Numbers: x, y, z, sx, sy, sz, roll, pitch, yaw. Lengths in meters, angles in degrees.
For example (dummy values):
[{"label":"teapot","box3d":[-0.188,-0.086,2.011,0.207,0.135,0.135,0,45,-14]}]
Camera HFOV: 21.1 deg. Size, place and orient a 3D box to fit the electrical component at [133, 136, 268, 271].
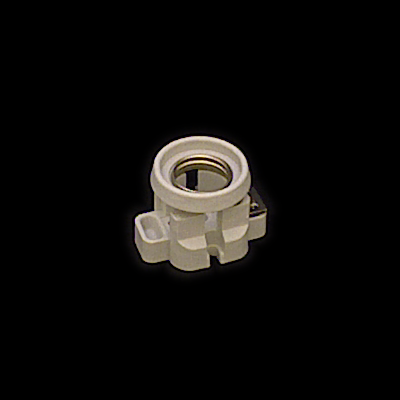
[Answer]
[{"label":"electrical component","box3d":[0.000,0.000,0.633,0.078,0.057,0.057,-13,44,-15]}]
